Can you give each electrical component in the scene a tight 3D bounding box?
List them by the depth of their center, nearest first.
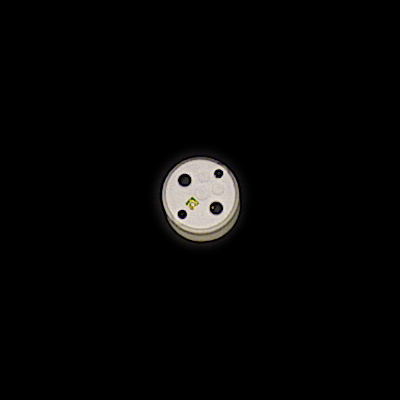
[{"bbox_3d":[0.000,0.000,0.629,0.045,0.045,0.055,0,-7,0],"label":"electrical component"}]
